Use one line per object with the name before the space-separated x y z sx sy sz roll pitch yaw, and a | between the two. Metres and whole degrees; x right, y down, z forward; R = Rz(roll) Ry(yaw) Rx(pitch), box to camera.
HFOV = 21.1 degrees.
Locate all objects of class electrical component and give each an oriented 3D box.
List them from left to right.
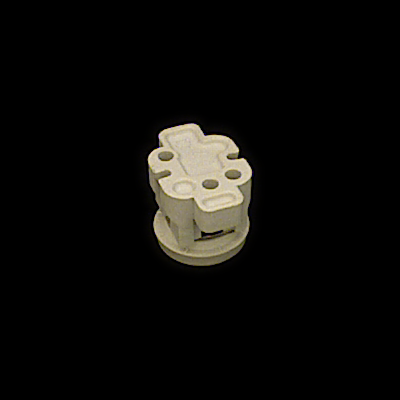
electrical component | 0.000 0.000 0.639 0.058 0.057 0.077 -16 44 -16
